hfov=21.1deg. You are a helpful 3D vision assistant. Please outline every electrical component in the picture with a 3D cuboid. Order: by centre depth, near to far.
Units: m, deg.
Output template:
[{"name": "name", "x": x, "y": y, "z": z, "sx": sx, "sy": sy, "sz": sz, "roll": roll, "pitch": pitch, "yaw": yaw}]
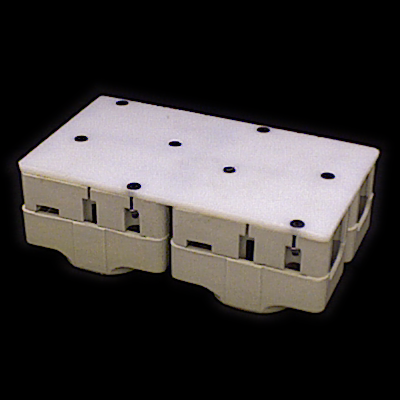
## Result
[{"name": "electrical component", "x": 0.000, "y": 0.000, "z": 0.633, "sx": 0.185, "sy": 0.061, "sz": 0.104, "roll": 13, "pitch": 33, "yaw": 19}]
